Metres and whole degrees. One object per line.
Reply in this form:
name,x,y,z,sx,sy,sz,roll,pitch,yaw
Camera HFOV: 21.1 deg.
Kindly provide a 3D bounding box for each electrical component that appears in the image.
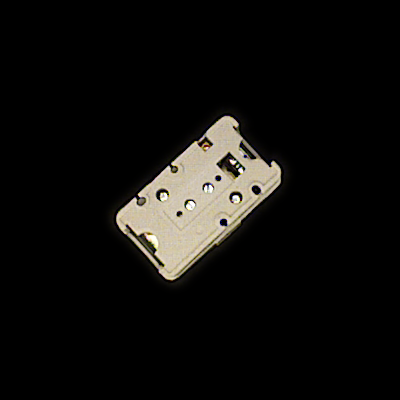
electrical component,0.000,0.000,0.637,0.090,0.050,0.055,-43,-5,-4
